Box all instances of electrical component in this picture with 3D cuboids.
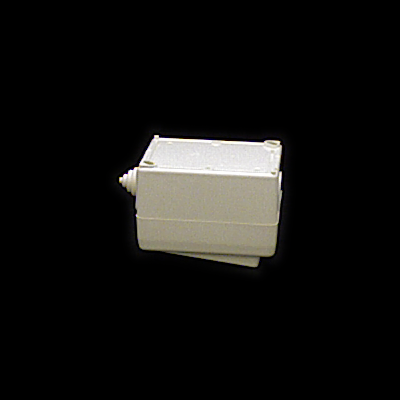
[{"bbox_3d":[0.000,0.000,0.637,0.096,0.061,0.061,3,21,5],"label":"electrical component"}]
